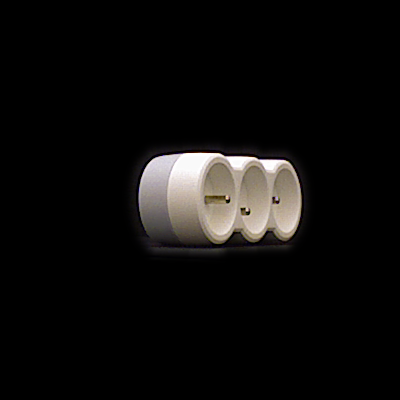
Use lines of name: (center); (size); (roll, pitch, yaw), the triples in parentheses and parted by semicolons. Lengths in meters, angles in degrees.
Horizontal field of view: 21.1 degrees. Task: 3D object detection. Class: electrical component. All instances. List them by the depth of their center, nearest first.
electrical component: (0.000, 0.000, 0.647); (0.073, 0.052, 0.138); (-1, 0, 29)
